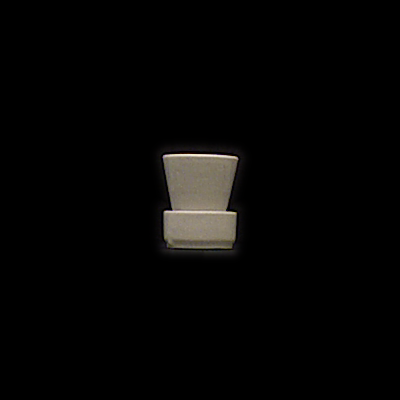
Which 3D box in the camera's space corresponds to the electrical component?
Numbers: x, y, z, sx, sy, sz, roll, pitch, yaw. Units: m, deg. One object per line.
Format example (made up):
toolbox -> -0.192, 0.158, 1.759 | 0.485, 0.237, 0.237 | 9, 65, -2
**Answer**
electrical component -> 0.000, 0.000, 0.649 | 0.045, 0.055, 0.045 | 1, 0, 0
